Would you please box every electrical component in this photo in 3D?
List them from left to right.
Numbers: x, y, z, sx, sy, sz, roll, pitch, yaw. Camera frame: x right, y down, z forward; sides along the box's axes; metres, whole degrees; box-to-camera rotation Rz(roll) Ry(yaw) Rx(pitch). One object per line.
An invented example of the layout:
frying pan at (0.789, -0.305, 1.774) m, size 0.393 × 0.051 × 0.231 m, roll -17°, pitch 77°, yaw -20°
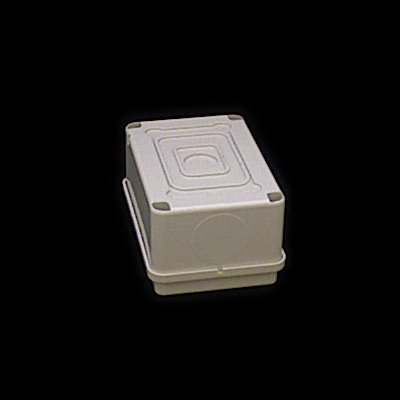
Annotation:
electrical component at (0.000, 0.000, 0.635) m, size 0.078 × 0.058 × 0.111 m, roll -5°, pitch 32°, yaw -10°
